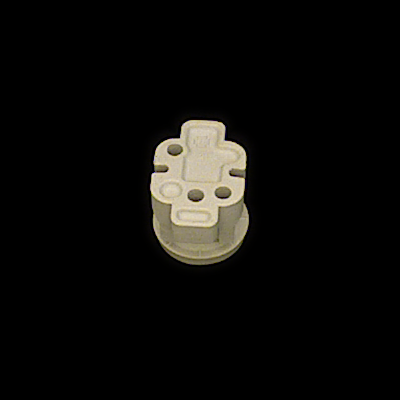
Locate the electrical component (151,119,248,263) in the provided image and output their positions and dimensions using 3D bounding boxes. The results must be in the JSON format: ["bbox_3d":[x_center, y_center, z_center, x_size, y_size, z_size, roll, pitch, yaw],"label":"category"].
[{"bbox_3d":[0.000,0.000,0.638,0.058,0.078,0.057,2,-38,2],"label":"electrical component"}]
